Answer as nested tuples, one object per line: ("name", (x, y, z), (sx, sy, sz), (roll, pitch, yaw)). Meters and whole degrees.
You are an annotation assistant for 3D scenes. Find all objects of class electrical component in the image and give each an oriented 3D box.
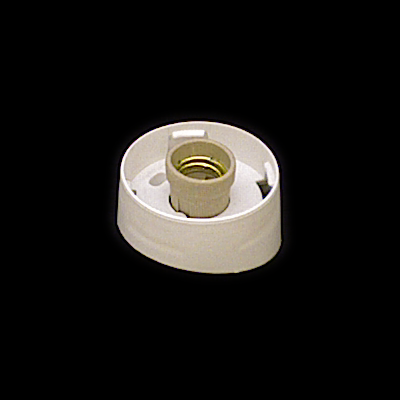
("electrical component", (0.000, 0.000, 0.629), (0.099, 0.064, 0.098), (1, 42, 0))
